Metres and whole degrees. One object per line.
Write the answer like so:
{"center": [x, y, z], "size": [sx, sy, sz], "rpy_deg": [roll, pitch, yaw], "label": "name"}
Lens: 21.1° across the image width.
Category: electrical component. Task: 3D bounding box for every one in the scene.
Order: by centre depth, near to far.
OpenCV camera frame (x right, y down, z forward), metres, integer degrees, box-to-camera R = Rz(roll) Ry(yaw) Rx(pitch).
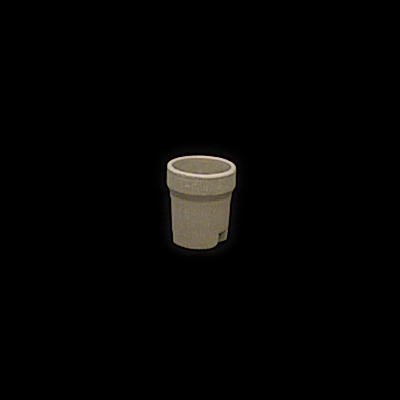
{"center": [0.000, 0.000, 0.640], "size": [0.040, 0.047, 0.039], "rpy_deg": [1, 21, 0], "label": "electrical component"}
